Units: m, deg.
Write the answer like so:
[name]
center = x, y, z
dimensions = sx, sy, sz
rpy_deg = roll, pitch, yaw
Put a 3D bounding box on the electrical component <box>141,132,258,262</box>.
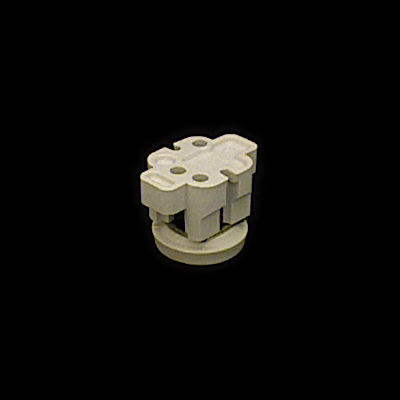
[electrical component]
center = 0.000, 0.000, 0.644
dimensions = 0.057, 0.057, 0.079
rpy_deg = 26, 39, 35
